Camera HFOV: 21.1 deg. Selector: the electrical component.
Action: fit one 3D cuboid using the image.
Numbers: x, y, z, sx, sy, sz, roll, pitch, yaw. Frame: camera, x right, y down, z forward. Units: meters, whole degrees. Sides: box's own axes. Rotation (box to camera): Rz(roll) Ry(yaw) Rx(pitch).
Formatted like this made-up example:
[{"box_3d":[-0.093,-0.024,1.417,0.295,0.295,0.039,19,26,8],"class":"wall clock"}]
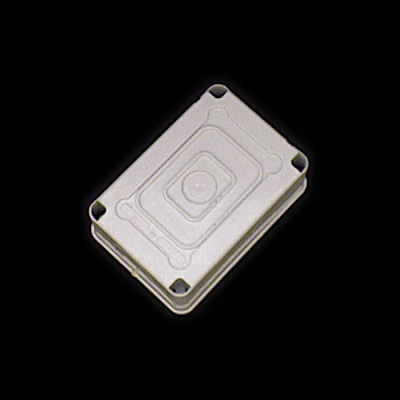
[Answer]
[{"box_3d":[0.000,0.000,0.627,0.078,0.113,0.057,42,-12,11],"class":"electrical component"}]
